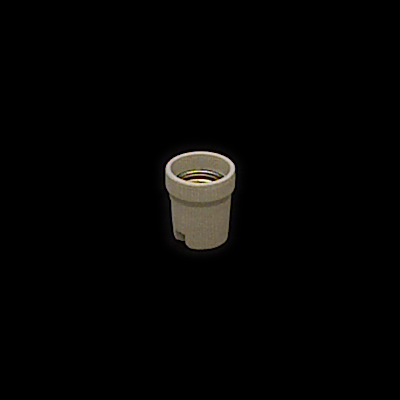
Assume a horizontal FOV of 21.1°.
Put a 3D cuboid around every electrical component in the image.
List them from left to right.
[{"bbox_3d":[0.000,0.000,0.636,0.040,0.047,0.039,1,32,0],"label":"electrical component"}]
